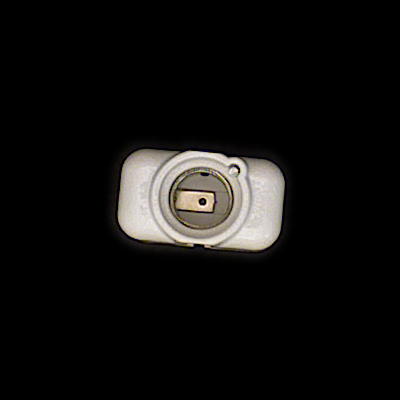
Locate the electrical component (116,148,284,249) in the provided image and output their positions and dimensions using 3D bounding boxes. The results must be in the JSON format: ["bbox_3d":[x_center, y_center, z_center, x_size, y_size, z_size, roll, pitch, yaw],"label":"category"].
[{"bbox_3d":[0.000,0.000,0.635,0.095,0.054,0.059,5,-5,1],"label":"electrical component"}]
